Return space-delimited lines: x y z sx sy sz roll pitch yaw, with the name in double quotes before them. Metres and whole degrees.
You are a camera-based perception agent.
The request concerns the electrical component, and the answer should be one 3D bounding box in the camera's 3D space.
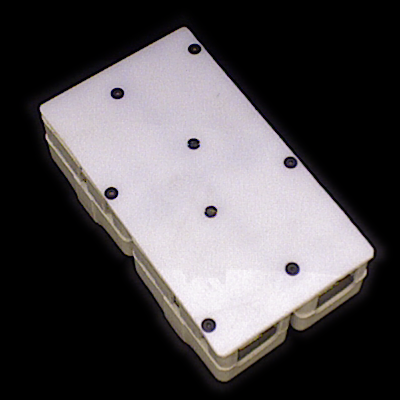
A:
"electrical component" 0.000 0.000 0.625 0.106 0.186 0.060 -32 -23 -15
